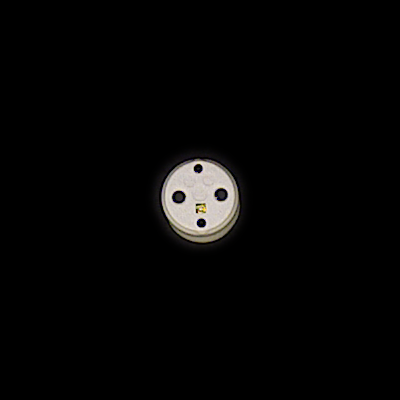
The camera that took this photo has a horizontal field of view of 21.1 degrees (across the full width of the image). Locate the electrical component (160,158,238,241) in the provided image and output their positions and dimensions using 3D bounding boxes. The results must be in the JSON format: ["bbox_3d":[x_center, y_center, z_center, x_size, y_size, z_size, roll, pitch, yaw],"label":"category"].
[{"bbox_3d":[0.000,0.000,0.630,0.045,0.045,0.055,0,-7,1],"label":"electrical component"}]
